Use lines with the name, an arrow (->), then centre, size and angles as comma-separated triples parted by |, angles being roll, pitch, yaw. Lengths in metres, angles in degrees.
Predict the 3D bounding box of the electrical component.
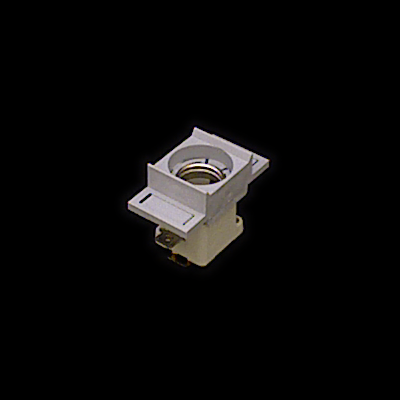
electrical component -> 0.000, 0.000, 0.627 | 0.042, 0.064, 0.080 | 28, 48, 26
